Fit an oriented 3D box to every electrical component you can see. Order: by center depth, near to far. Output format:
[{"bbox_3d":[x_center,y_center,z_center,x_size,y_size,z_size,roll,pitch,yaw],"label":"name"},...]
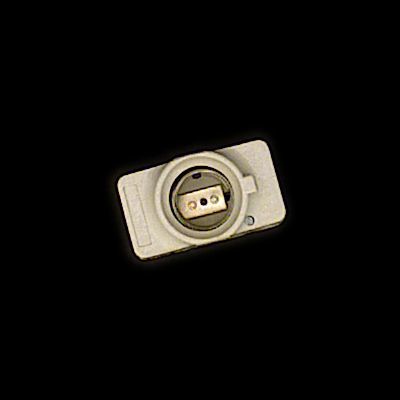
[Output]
[{"bbox_3d":[0.000,0.000,0.637,0.090,0.050,0.055,-15,-5,-1],"label":"electrical component"}]
